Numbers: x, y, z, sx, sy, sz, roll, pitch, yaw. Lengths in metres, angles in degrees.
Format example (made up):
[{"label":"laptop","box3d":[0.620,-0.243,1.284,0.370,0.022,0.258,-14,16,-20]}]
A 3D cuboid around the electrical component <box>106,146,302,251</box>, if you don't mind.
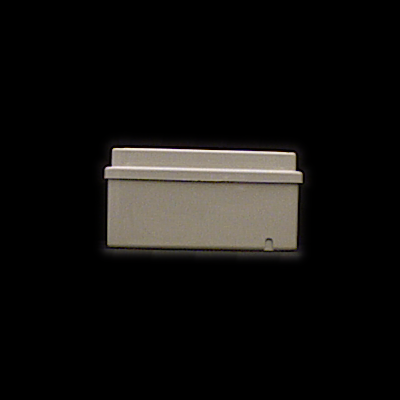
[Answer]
[{"label":"electrical component","box3d":[0.000,0.000,0.646,0.113,0.057,0.078,2,0,-4]}]
